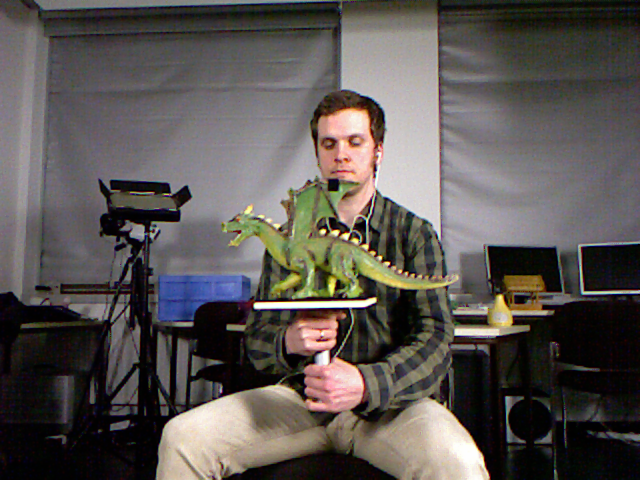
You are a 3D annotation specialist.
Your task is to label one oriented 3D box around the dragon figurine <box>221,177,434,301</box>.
[{"bbox_3d":[0.014,-0.006,1.020,0.411,0.243,0.122,-3,-2,-4],"label":"dragon figurine"}]
